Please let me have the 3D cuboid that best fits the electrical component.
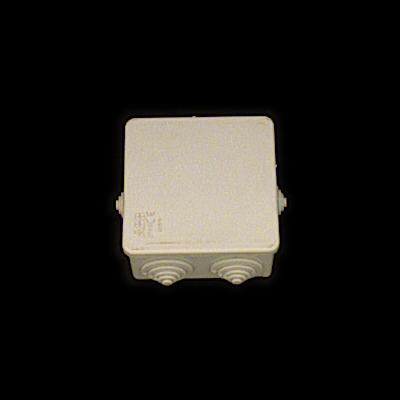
[{"bbox_3d":[0.000,0.000,0.639,0.100,0.100,0.048,0,-26,0],"label":"electrical component"}]
